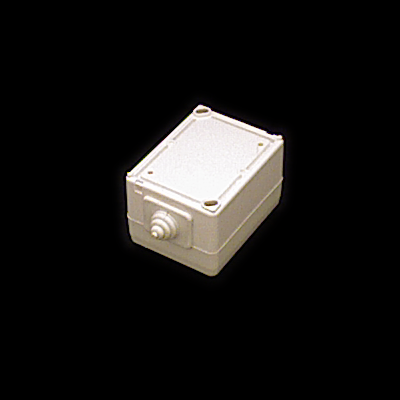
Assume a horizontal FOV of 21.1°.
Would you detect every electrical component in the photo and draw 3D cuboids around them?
[{"bbox_3d":[0.000,0.000,0.631,0.061,0.061,0.096,23,47,23],"label":"electrical component"}]
